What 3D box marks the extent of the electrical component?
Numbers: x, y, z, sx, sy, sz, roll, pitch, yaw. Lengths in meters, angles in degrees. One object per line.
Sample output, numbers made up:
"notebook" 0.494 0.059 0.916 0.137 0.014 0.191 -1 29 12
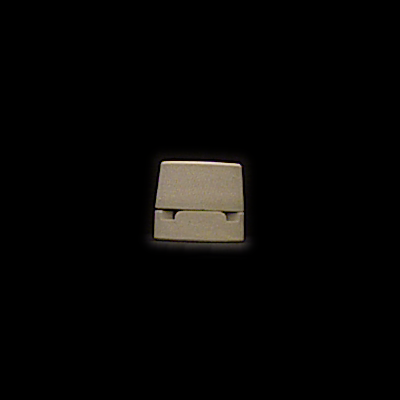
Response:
"electrical component" 0.000 0.000 0.650 0.055 0.047 0.055 2 1 0
